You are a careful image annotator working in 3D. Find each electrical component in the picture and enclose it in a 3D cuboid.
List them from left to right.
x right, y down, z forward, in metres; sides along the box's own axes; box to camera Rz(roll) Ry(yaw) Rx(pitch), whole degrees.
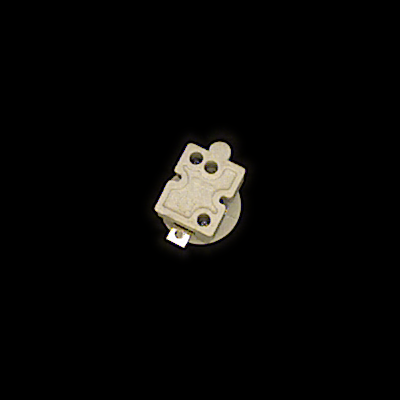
[{"bbox_3d":[0.000,0.000,0.638,0.048,0.067,0.055,26,-13,6],"label":"electrical component"}]
